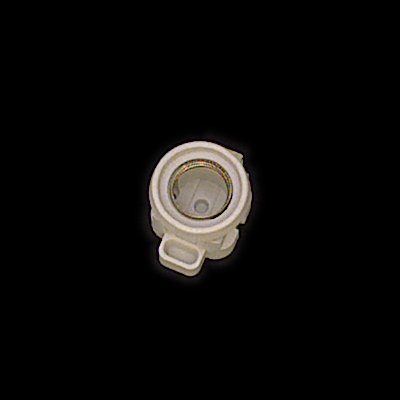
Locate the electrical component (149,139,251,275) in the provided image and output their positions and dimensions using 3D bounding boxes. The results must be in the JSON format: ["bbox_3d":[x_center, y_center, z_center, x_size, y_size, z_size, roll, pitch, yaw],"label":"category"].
[{"bbox_3d":[0.000,0.000,0.629,0.058,0.079,0.056,22,-16,6],"label":"electrical component"}]
